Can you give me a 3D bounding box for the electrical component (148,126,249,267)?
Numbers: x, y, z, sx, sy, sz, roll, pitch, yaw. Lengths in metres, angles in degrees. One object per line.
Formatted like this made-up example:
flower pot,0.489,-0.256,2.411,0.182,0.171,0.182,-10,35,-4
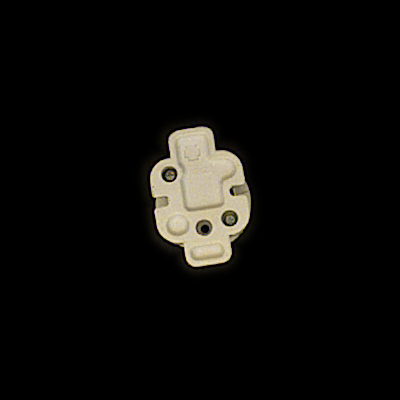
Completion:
electrical component,0.000,0.000,0.637,0.058,0.078,0.056,-10,-7,1
